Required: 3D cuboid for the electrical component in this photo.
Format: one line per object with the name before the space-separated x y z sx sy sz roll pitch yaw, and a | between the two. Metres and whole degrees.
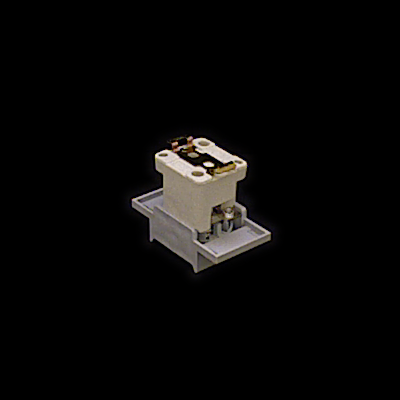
electrical component | 0.000 0.000 0.634 0.042 0.064 0.080 -23 39 -34
